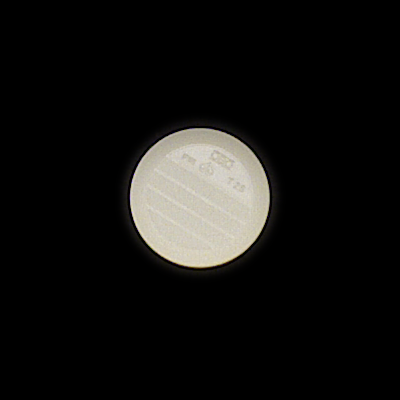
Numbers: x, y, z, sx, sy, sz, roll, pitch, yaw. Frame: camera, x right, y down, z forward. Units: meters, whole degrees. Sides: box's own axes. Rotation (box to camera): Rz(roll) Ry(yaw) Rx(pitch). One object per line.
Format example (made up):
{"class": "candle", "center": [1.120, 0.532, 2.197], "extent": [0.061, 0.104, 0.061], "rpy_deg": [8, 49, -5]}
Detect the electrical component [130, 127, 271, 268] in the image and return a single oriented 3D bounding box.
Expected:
{"class": "electrical component", "center": [0.000, 0.000, 0.631], "extent": [0.080, 0.080, 0.050], "rpy_deg": [0, -6, 0]}
